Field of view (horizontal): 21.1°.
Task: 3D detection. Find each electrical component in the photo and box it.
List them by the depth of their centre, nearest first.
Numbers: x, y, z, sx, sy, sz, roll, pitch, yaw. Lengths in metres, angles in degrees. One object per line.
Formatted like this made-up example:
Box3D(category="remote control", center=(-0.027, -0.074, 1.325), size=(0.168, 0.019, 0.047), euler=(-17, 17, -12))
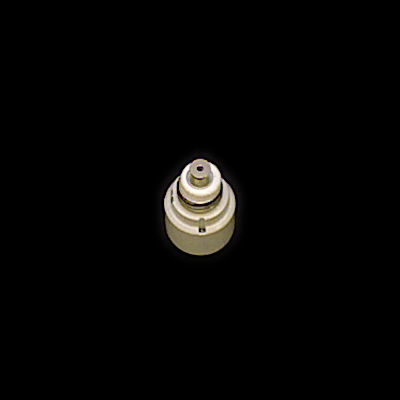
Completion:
Box3D(category="electrical component", center=(0.000, 0.000, 0.619), size=(0.040, 0.040, 0.078), euler=(0, -26, -1))
